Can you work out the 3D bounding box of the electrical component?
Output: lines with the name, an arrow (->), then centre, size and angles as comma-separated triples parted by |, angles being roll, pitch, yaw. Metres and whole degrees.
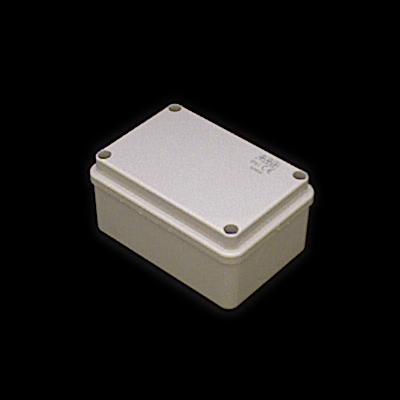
electrical component -> 0.000, 0.000, 0.632 | 0.112, 0.057, 0.078 | 30, 50, 29
